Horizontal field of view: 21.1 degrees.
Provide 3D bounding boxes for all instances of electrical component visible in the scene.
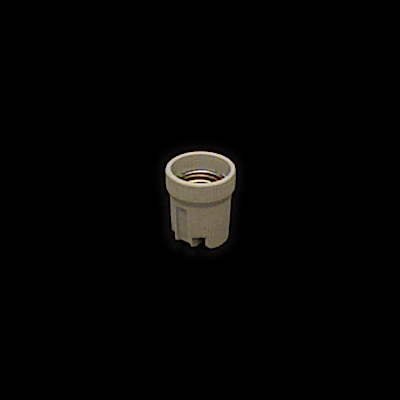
[{"bbox_3d":[0.000,0.000,0.634,0.040,0.047,0.039,1,32,0],"label":"electrical component"}]
